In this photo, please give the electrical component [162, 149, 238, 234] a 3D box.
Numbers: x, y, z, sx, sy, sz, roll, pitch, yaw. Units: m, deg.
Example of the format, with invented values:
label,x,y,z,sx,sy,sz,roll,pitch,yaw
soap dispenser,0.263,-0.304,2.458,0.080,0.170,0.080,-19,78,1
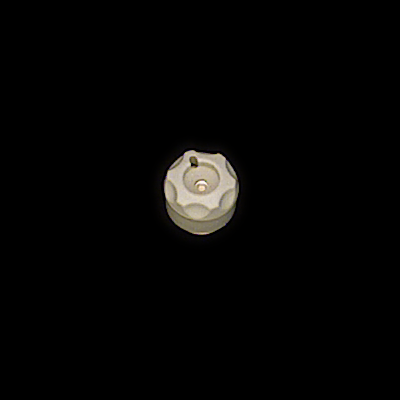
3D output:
label,x,y,z,sx,sy,sz,roll,pitch,yaw
electrical component,0.000,0.000,0.633,0.043,0.043,0.062,0,-26,0
